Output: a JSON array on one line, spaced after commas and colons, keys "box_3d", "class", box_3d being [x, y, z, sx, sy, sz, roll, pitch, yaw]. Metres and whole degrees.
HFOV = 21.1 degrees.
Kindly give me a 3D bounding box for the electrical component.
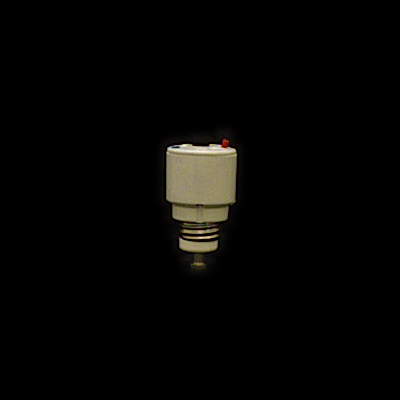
[{"box_3d": [0.000, 0.000, 0.641, 0.040, 0.079, 0.040, 2, 11, 0], "class": "electrical component"}]
